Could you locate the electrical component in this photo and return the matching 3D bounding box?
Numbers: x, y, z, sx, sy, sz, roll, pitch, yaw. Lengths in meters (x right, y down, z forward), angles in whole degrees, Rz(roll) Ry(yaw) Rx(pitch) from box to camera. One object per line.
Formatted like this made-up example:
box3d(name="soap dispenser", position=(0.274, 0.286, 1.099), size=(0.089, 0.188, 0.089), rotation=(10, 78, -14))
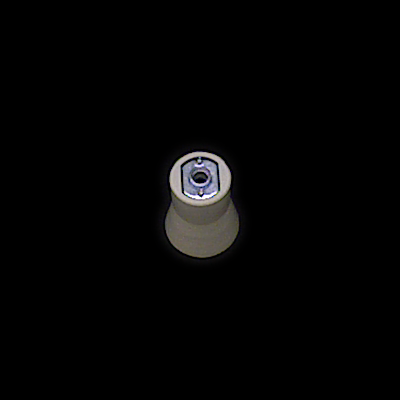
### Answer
box3d(name="electrical component", position=(0.000, 0.000, 0.625), size=(0.044, 0.044, 0.065), rotation=(0, -27, 1))
